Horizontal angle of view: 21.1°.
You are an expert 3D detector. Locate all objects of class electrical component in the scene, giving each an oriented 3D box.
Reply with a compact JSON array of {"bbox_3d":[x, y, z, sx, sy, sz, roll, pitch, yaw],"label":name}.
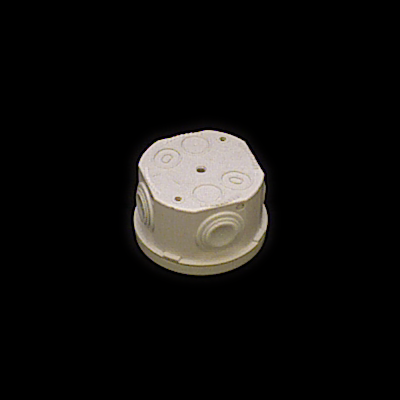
[{"bbox_3d":[0.000,0.000,0.633,0.080,0.051,0.080,0,43,0],"label":"electrical component"}]
